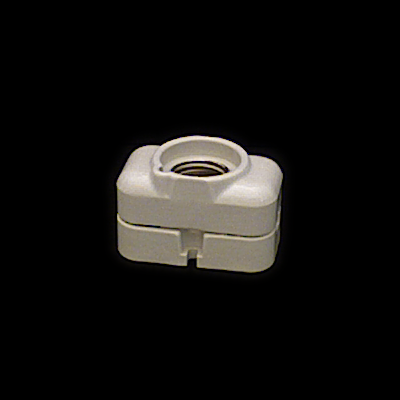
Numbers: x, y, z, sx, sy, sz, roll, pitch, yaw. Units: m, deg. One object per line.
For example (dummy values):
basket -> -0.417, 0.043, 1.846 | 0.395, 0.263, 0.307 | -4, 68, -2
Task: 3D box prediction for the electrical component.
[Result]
electrical component -> 0.000, 0.000, 0.640 | 0.095, 0.060, 0.053 | 5, 32, 8
